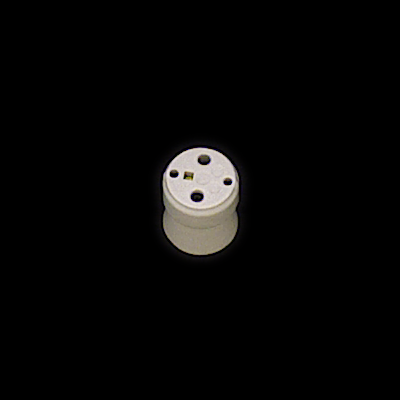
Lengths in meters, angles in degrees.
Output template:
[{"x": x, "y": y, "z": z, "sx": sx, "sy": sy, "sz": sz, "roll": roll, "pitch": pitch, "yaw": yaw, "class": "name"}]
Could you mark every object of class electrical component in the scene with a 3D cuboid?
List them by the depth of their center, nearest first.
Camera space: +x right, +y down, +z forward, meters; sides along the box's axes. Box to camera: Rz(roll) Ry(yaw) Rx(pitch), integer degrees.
[{"x": 0.000, "y": 0.000, "z": 0.629, "sx": 0.045, "sy": 0.045, "sz": 0.055, "roll": 0, "pitch": -27, "yaw": -1, "class": "electrical component"}]
